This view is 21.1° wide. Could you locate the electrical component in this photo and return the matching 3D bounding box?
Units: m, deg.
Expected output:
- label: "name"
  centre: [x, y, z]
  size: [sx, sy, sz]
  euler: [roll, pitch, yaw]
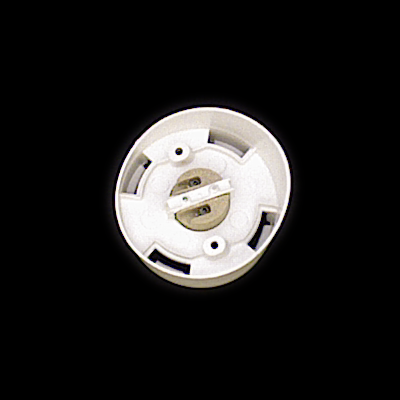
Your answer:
- label: "electrical component"
  centre: [0.000, 0.000, 0.624]
  size: [0.099, 0.099, 0.064]
  euler: [0, -18, 0]
